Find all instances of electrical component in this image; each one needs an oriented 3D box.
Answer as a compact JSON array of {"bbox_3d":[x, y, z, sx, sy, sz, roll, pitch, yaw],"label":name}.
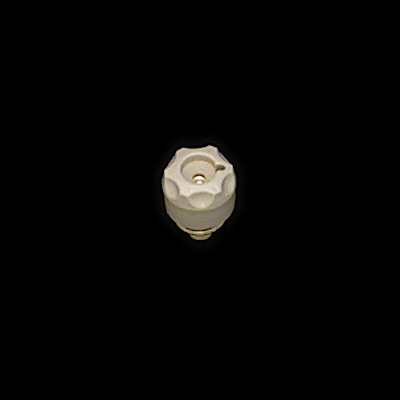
[{"bbox_3d":[0.000,0.000,0.635,0.043,0.043,0.062,0,-37,1],"label":"electrical component"}]
